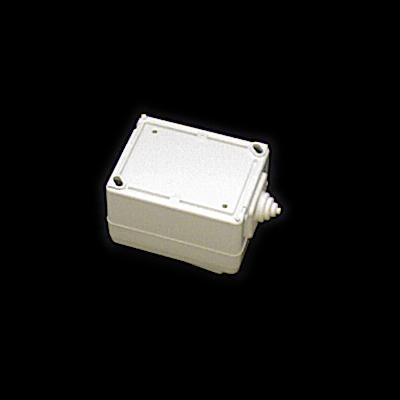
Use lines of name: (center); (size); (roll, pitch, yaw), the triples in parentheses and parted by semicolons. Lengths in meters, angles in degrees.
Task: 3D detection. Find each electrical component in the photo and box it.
electrical component: (0.000, 0.000, 0.628); (0.096, 0.061, 0.061); (14, -37, 11)
